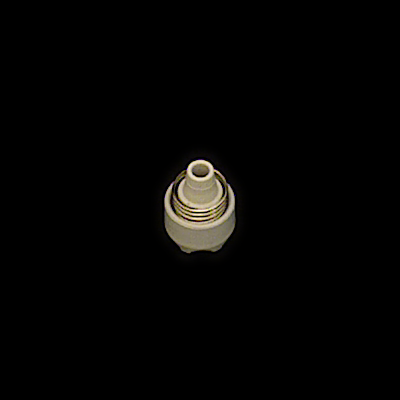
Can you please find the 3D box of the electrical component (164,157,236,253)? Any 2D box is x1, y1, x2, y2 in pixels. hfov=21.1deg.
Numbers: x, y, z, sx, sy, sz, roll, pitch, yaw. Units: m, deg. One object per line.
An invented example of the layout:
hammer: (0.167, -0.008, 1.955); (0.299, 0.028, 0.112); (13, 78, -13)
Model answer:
electrical component: (0.000, 0.000, 0.635); (0.043, 0.043, 0.062); (0, -36, -1)
